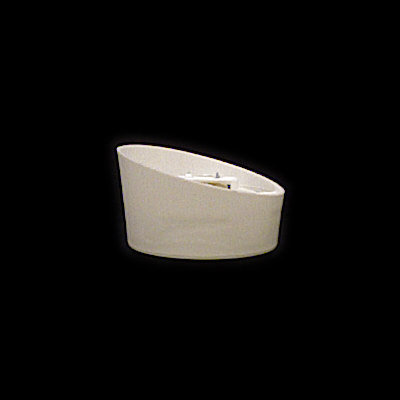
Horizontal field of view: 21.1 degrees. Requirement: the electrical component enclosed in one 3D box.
[{"bbox_3d":[0.000,0.000,0.643,0.099,0.064,0.098,0,10,0],"label":"electrical component"}]
